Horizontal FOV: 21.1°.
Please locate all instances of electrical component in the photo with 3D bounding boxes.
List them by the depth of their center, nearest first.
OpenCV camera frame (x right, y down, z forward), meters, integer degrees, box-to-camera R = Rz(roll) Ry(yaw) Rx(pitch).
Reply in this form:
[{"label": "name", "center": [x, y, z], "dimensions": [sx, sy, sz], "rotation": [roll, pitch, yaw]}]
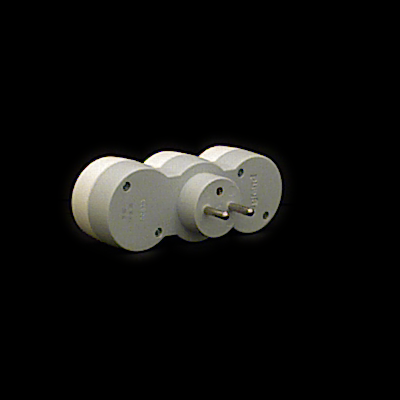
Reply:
[{"label": "electrical component", "center": [0.000, 0.000, 0.648], "dimensions": [0.139, 0.052, 0.072], "rotation": [-8, 16, -39]}]
